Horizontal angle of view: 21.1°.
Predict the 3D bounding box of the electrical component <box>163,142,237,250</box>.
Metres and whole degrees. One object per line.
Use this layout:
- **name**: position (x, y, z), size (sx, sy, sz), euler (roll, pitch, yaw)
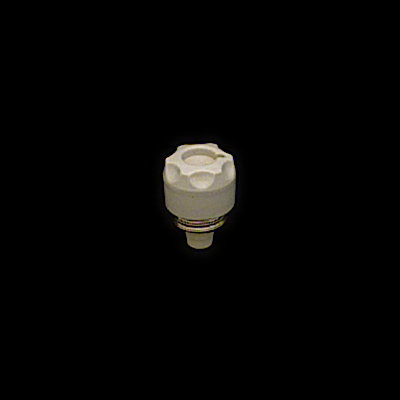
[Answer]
- **electrical component**: position (0.000, 0.000, 0.641), size (0.043, 0.063, 0.043), euler (0, 33, 0)
